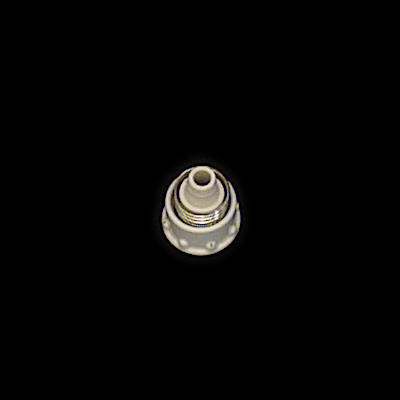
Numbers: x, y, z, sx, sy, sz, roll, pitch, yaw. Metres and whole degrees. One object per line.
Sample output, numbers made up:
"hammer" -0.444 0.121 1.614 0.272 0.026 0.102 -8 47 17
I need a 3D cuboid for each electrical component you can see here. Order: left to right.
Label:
"electrical component" 0.000 0.000 0.634 0.048 0.048 0.062 0 -26 -1
